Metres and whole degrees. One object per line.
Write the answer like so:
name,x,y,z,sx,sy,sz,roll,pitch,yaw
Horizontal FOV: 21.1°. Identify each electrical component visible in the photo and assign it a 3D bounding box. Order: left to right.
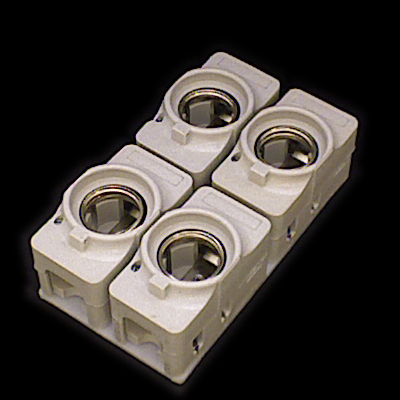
electrical component,0.000,0.000,0.627,0.105,0.186,0.060,30,-32,20
